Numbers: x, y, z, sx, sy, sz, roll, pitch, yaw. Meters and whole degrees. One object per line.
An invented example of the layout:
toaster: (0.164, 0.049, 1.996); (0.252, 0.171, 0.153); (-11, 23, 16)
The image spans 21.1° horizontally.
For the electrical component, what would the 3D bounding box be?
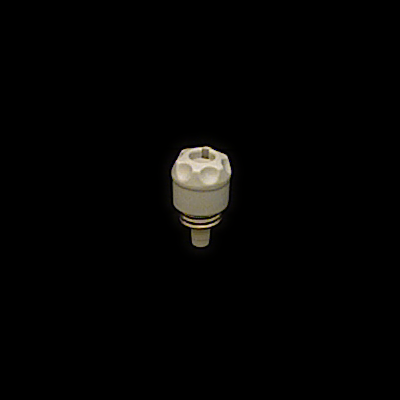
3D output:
electrical component: (0.000, 0.000, 0.643); (0.035, 0.062, 0.034); (1, 32, 0)
